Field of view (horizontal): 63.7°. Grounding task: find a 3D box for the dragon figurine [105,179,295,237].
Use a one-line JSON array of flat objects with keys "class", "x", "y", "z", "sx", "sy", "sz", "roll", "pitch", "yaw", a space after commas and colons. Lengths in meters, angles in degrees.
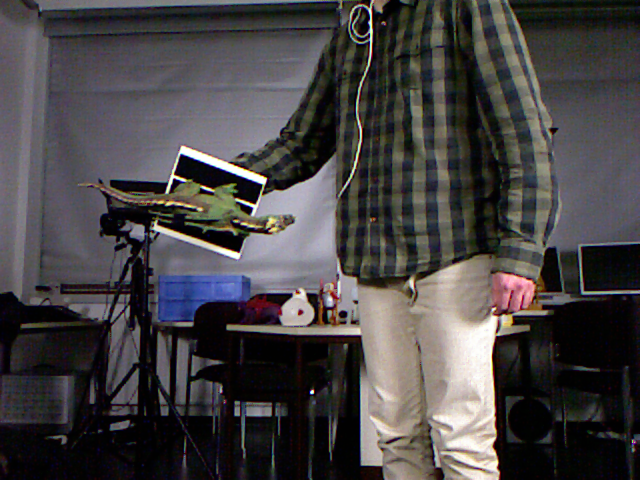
[{"class": "dragon figurine", "x": -0.260, "y": -0.061, "z": 1.075, "sx": 0.411, "sy": 0.122, "sz": 0.244, "roll": 5, "pitch": 7, "yaw": -10}]
